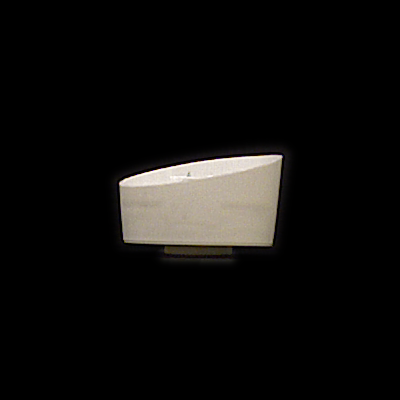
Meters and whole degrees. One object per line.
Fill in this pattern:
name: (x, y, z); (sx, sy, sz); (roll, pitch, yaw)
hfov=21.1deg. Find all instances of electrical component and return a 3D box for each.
electrical component: (0.001, 0.000, 0.651); (0.099, 0.064, 0.099); (1, -1, 0)
